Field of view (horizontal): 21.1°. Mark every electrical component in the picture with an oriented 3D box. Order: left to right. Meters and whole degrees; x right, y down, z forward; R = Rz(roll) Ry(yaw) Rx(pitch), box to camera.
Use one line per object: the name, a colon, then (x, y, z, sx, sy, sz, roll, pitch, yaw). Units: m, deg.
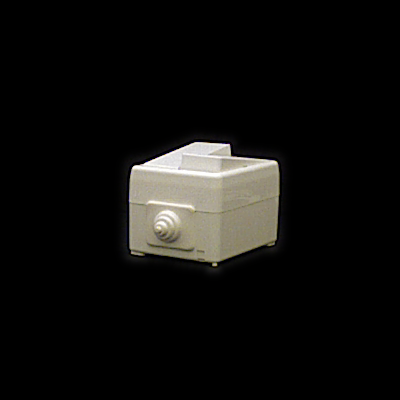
electrical component: (0.000, 0.000, 0.642, 0.061, 0.061, 0.096, 7, 12, 30)
